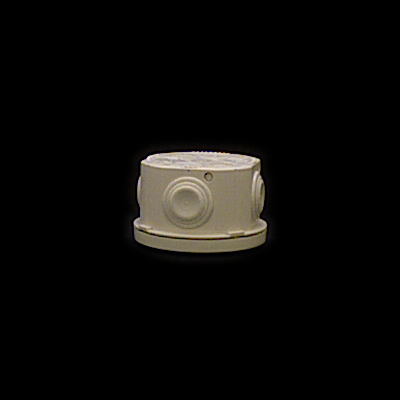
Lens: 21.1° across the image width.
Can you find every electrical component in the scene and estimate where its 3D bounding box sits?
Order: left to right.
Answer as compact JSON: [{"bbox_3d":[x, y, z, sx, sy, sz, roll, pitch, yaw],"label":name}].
[{"bbox_3d":[0.000,0.000,0.644,0.080,0.051,0.079,1,11,0],"label":"electrical component"}]
